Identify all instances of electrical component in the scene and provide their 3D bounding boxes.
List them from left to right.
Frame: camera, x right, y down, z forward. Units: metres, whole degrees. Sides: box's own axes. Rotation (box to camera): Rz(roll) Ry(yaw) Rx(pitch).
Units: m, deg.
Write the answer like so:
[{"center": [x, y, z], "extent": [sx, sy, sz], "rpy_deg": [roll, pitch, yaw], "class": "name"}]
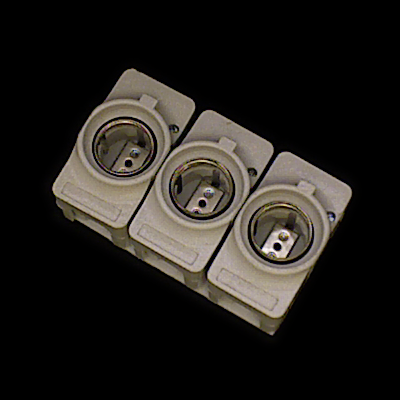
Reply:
[{"center": [0.000, 0.000, 0.632], "extent": [0.150, 0.089, 0.062], "rpy_deg": [29, -15, 8], "class": "electrical component"}]
